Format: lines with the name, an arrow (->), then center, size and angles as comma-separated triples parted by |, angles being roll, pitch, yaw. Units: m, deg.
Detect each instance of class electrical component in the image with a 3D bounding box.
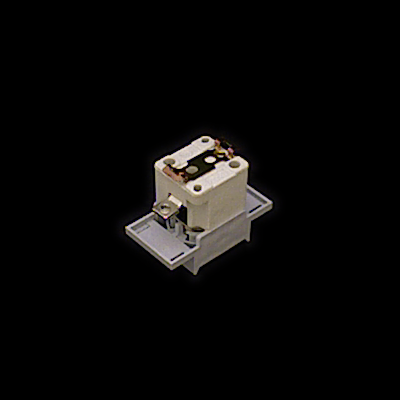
electrical component -> 0.000, 0.000, 0.630 | 0.080, 0.064, 0.042 | -31, 51, -30
